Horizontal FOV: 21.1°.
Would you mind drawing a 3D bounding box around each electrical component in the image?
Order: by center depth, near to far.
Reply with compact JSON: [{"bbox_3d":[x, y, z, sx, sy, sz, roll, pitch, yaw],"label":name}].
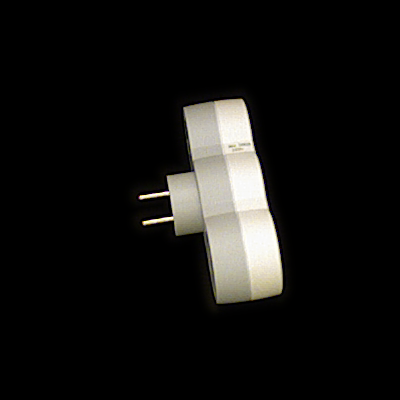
[{"bbox_3d":[0.000,0.000,0.639,0.074,0.137,0.052,-8,-36,-4],"label":"electrical component"}]
